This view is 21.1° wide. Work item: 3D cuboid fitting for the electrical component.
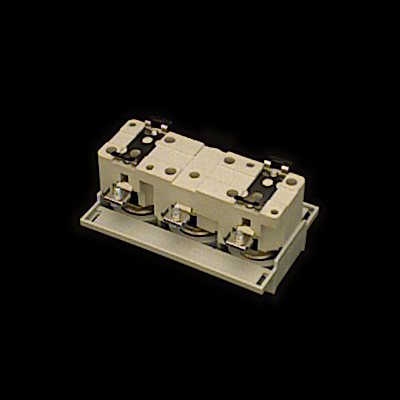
[{"bbox_3d":[0.000,0.000,0.640,0.120,0.063,0.078,20,45,19],"label":"electrical component"}]
